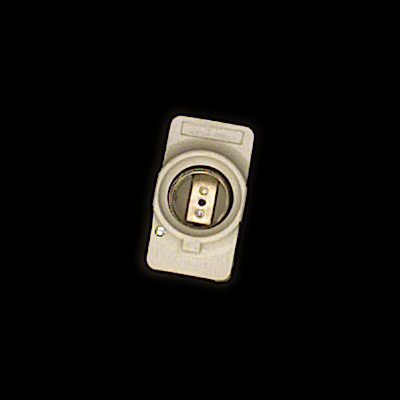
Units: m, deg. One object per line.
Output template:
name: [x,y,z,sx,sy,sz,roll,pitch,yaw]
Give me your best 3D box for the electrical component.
electrical component: [0.000,0.000,0.637,0.050,0.090,0.055,10,-6,2]
